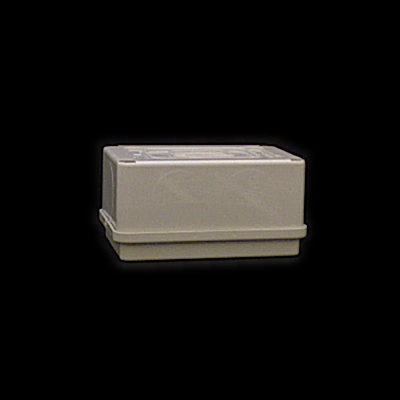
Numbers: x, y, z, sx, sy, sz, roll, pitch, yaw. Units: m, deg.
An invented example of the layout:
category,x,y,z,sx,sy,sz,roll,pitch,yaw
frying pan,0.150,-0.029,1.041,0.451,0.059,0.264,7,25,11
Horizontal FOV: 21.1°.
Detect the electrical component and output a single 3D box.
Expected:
category,x,y,z,sx,sy,sz,roll,pitch,yaw
electrical component,0.000,0.000,0.644,0.113,0.057,0.077,-2,11,-12
